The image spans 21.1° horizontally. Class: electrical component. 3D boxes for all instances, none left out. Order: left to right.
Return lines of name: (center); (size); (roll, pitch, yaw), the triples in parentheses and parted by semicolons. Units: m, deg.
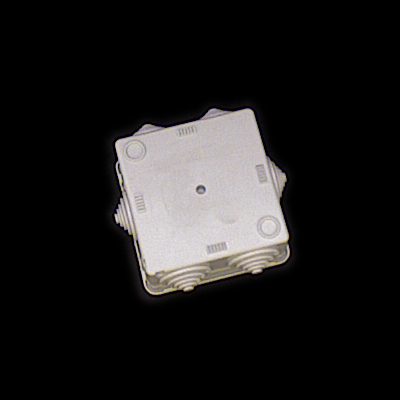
electrical component: (0.000, 0.000, 0.631); (0.100, 0.100, 0.048); (-14, -16, -4)
